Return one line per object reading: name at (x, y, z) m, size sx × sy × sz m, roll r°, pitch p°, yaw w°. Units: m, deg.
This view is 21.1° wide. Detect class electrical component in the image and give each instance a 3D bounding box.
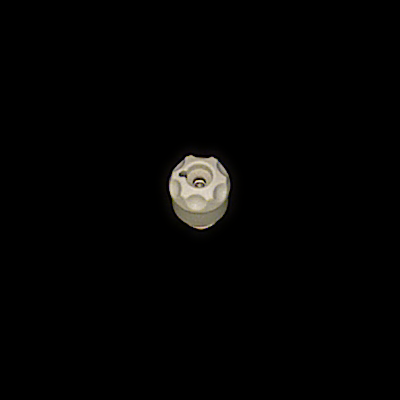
electrical component at (0.000, 0.000, 0.634) m, size 0.035 × 0.035 × 0.061 m, roll 0°, pitch -27°, yaw 1°
